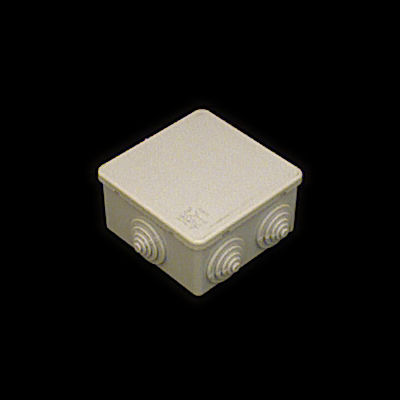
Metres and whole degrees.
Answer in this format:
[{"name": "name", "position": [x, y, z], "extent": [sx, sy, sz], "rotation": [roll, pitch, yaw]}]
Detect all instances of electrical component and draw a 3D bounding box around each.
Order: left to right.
[{"name": "electrical component", "position": [0.000, 0.000, 0.641], "extent": [0.100, 0.049, 0.098], "rotation": [-33, 53, -31]}]
